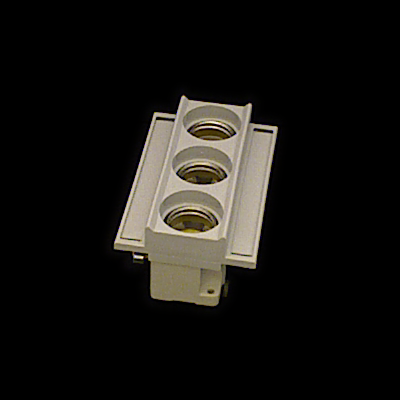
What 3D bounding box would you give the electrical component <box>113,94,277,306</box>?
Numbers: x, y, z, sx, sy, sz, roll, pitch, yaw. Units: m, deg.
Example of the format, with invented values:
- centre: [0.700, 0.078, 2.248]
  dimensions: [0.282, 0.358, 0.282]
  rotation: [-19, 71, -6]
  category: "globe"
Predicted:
- centre: [0.000, 0.000, 0.643]
  dimensions: [0.078, 0.064, 0.120]
  rotation: [7, 43, 5]
  category: "electrical component"
